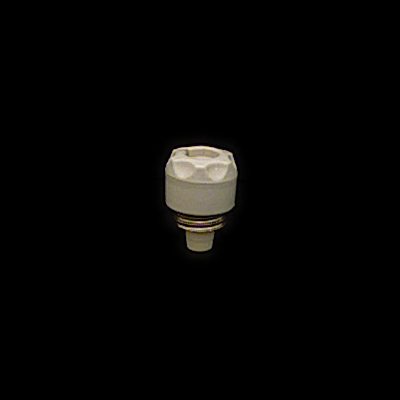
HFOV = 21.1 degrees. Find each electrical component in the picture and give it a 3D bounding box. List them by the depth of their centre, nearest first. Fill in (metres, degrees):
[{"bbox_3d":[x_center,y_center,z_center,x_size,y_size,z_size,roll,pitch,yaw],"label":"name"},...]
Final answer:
[{"bbox_3d":[0.000,0.000,0.646,0.043,0.063,0.043,2,22,0],"label":"electrical component"}]
